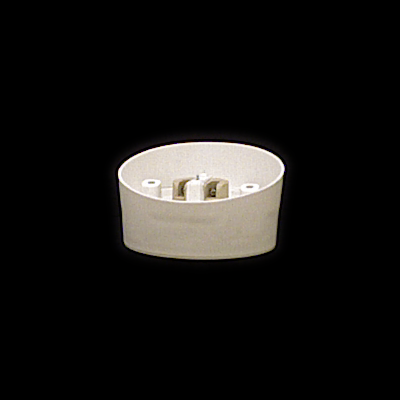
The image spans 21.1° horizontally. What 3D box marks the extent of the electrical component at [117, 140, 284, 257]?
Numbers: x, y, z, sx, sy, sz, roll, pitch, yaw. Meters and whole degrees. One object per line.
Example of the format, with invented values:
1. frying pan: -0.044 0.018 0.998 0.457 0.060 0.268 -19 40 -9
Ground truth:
1. electrical component: 0.000 0.000 0.644 0.099 0.064 0.098 1 9 0
